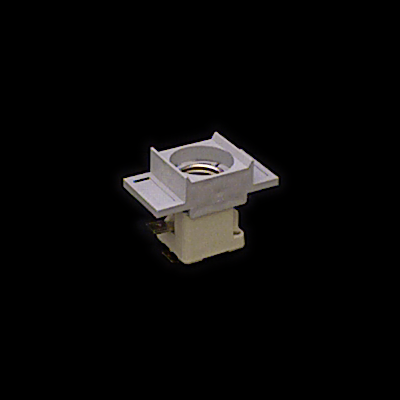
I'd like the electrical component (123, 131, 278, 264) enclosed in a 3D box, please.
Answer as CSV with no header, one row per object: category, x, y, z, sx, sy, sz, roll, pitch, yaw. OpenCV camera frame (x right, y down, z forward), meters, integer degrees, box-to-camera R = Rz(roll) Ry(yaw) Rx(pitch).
electrical component,0.000,0.000,0.631,0.081,0.064,0.041,-15,36,-26
